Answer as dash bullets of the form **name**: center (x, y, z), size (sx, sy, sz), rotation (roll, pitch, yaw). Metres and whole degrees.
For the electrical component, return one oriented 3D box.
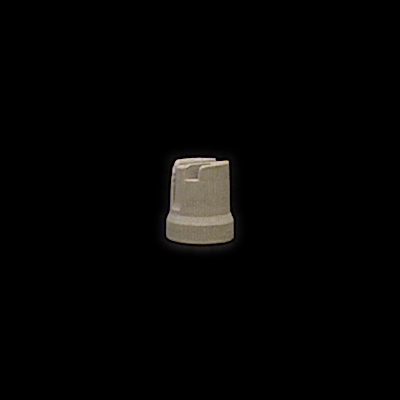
- **electrical component**: center (0.000, 0.000, 0.646), size (0.040, 0.046, 0.040), rotation (1, 11, 0)
